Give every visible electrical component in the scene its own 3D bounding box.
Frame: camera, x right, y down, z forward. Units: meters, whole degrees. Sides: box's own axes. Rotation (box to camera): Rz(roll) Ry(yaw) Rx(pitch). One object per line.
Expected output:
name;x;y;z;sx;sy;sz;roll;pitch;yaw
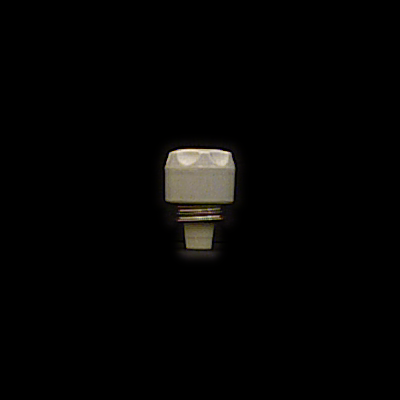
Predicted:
electrical component;0.000;0.000;0.655;0.043;0.062;0.043;1;2;0
